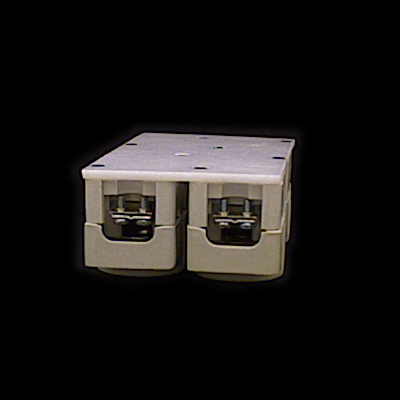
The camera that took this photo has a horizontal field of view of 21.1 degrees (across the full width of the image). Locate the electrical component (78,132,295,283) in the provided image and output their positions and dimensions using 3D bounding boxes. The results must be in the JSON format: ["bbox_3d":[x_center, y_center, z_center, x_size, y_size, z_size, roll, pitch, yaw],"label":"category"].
[{"bbox_3d":[0.000,0.000,0.644,0.105,0.061,0.185,2,10,7],"label":"electrical component"}]
